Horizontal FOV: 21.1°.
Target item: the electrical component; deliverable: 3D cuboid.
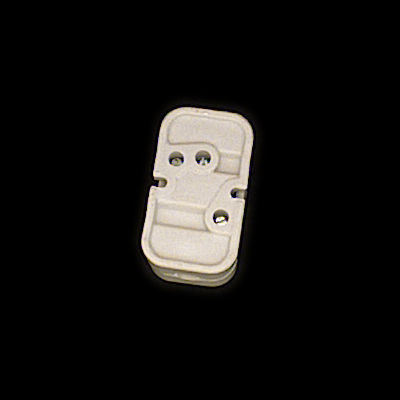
[{"bbox_3d":[0.000,0.000,0.635,0.053,0.095,0.059,8,-15,3],"label":"electrical component"}]
